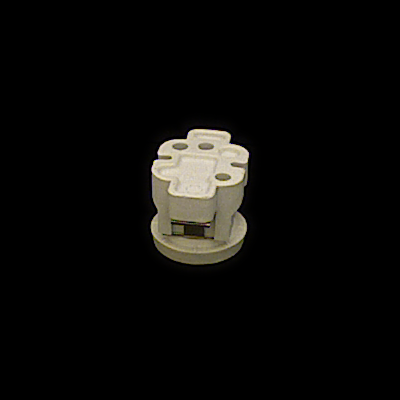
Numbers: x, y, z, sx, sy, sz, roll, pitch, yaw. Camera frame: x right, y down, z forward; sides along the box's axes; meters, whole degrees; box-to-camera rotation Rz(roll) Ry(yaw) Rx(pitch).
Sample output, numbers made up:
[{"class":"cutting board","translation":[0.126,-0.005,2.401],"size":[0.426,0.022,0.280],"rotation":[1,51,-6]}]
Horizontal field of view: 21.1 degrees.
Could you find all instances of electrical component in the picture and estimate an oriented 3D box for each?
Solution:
[{"class":"electrical component","translation":[0.000,0.000,0.641],"size":[0.058,0.057,0.077],"rotation":[6,34,6]}]
